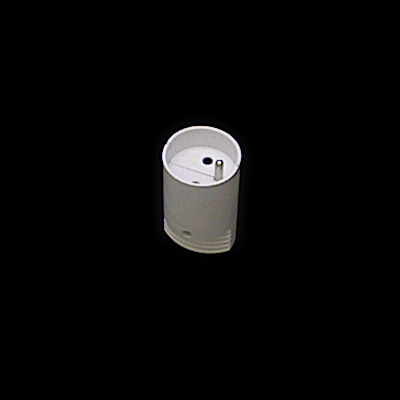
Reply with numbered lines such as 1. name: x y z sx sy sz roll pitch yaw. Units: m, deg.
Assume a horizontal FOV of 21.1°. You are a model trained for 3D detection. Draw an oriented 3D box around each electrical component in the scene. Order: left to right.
1. electrical component: 0.000 0.000 0.620 0.043 0.043 0.081 0 -37 -1
